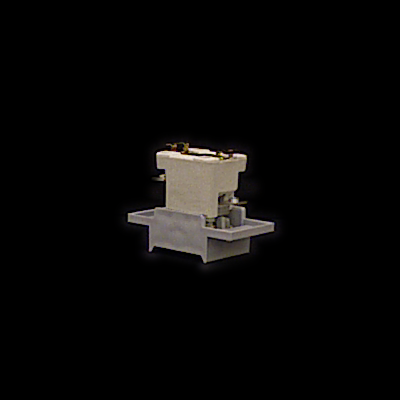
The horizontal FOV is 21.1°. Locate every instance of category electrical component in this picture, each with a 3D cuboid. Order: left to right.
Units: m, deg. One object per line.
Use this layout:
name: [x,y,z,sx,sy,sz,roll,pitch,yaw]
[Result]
electrical component: [0.000,0.000,0.644,0.080,0.064,0.042,9,14,38]
